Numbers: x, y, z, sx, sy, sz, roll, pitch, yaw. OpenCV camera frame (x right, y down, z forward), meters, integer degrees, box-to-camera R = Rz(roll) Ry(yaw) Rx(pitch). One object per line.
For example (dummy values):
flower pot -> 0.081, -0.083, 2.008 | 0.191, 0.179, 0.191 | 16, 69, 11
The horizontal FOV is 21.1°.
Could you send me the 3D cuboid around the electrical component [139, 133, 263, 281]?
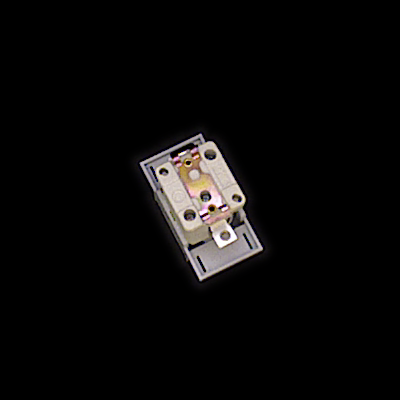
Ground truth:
electrical component -> 0.000, 0.000, 0.625 | 0.042, 0.081, 0.063 | -27, -15, -7
